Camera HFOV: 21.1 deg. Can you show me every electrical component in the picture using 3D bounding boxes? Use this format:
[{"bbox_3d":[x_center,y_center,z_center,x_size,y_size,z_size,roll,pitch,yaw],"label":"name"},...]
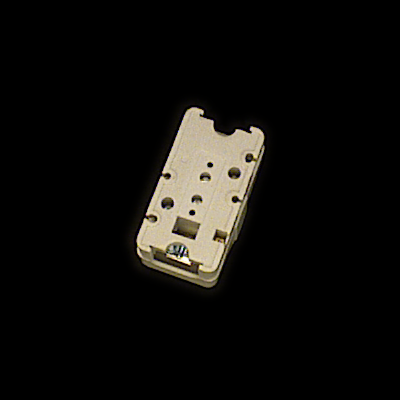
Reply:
[{"bbox_3d":[0.000,0.000,0.636,0.050,0.090,0.055,19,-15,5],"label":"electrical component"}]
